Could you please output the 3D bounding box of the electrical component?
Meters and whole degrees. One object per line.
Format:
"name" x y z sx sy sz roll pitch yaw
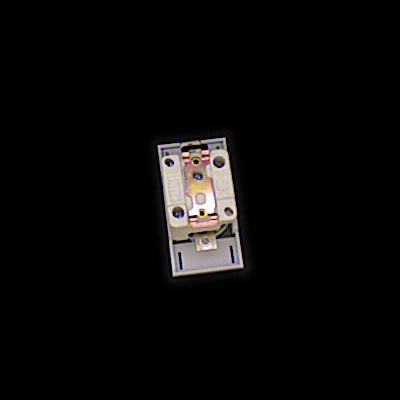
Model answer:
"electrical component" 0.000 0.000 0.625 0.042 0.081 0.063 -7 -17 -2
